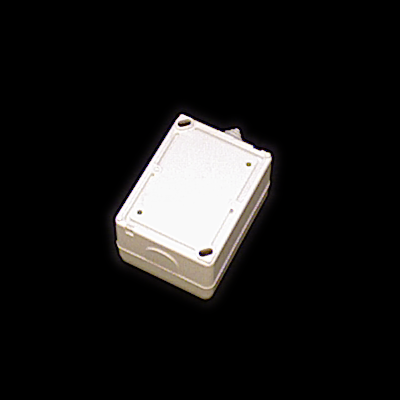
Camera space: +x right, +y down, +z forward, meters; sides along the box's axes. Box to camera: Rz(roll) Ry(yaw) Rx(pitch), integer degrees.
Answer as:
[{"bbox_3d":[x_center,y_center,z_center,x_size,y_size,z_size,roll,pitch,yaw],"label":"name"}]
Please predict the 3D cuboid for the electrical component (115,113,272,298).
[{"bbox_3d":[0.000,0.000,0.628,0.062,0.096,0.061,24,-26,12],"label":"electrical component"}]
